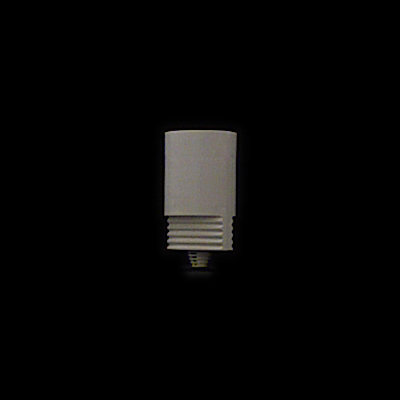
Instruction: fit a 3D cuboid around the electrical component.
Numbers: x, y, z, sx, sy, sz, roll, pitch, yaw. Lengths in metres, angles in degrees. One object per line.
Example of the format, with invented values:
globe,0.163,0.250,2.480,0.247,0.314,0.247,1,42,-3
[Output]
electrical component,0.000,0.000,0.649,0.043,0.081,0.043,1,0,0
